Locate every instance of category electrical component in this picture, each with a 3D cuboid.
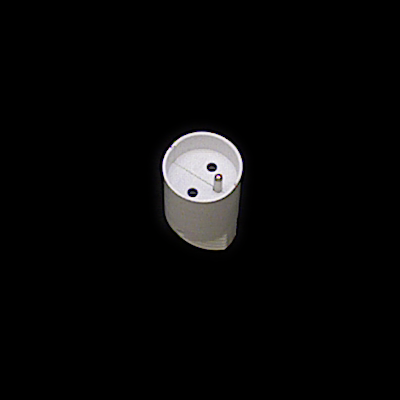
[{"bbox_3d":[0.000,0.000,0.617,0.043,0.043,0.081,0,-27,0],"label":"electrical component"}]
